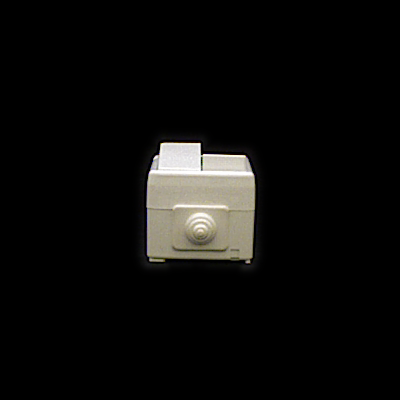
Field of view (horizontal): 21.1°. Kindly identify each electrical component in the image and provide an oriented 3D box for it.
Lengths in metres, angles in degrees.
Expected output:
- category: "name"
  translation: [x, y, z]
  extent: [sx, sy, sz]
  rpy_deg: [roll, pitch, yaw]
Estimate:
- category: "electrical component"
  translation: [0.000, 0.000, 0.642]
  extent: [0.062, 0.061, 0.095]
  rpy_deg: [1, 10, 0]
